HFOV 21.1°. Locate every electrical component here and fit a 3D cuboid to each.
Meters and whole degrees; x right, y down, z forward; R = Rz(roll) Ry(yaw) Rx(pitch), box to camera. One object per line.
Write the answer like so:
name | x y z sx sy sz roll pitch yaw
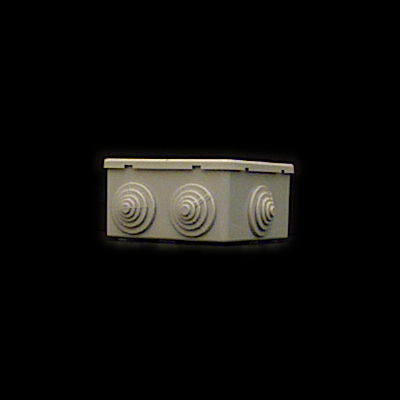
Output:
electrical component | 0.000 0.000 0.658 0.099 0.048 0.100 2 1 30
